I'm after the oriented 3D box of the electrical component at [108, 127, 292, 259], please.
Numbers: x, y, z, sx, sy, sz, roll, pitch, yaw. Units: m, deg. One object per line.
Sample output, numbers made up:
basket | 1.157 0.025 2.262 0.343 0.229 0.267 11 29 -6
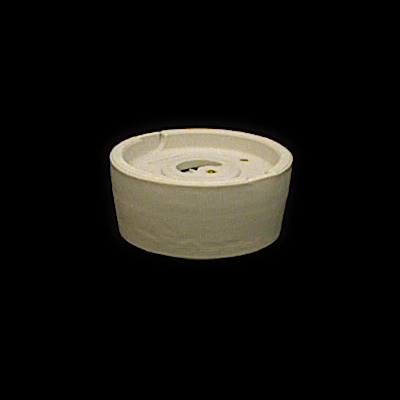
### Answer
electrical component | 0.000 0.000 0.645 0.108 0.061 0.106 1 21 0
